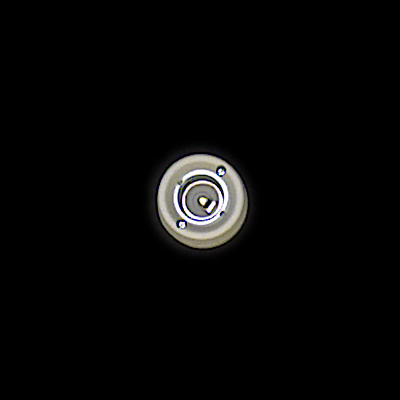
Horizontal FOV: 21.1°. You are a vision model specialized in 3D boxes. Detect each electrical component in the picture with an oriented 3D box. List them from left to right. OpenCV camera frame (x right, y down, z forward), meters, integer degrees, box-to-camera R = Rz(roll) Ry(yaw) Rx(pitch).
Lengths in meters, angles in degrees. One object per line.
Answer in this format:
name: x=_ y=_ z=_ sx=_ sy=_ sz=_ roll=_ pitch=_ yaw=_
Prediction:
electrical component: x=0.000 y=0.000 z=0.633 sx=0.055 sy=0.055 sz=0.047 roll=0 pitch=-6 yaw=1
